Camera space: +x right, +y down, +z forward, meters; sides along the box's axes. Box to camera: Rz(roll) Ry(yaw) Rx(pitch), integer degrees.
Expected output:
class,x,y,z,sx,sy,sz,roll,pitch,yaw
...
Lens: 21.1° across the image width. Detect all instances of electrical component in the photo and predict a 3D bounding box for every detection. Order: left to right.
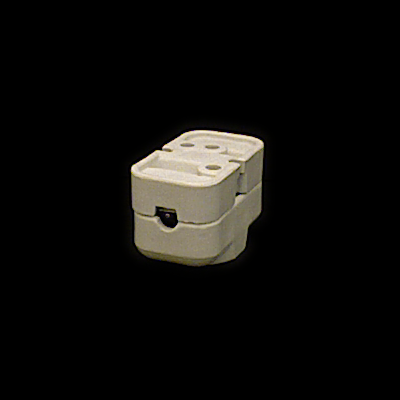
class,x,y,z,sx,sy,sz,roll,pitch,yaw
electrical component,0.000,0.000,0.645,0.053,0.060,0.095,10,24,21
